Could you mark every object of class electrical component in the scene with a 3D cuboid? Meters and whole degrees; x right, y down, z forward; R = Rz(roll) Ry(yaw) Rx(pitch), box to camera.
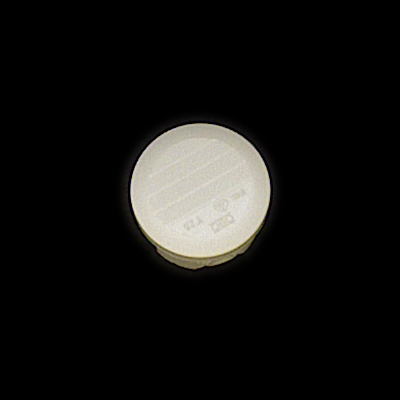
[{"bbox_3d":[0.000,0.000,0.629,0.080,0.080,0.050,0,-17,0],"label":"electrical component"}]
